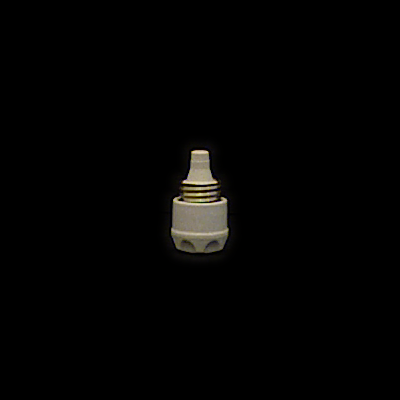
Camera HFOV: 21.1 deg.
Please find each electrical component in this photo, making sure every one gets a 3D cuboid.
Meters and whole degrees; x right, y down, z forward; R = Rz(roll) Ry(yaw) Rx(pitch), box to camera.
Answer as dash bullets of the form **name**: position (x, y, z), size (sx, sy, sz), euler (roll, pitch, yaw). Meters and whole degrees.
- **electrical component**: position (0.000, 0.000, 0.655), size (0.035, 0.062, 0.035), euler (0, 11, 0)
